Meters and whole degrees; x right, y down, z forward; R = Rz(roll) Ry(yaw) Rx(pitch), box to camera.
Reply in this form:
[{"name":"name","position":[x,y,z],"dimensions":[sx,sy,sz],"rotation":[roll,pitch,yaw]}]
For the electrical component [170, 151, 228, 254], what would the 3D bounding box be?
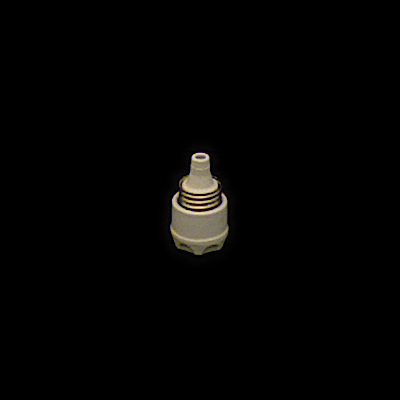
[{"name":"electrical component","position":[0.000,0.000,0.646],"dimensions":[0.035,0.062,0.034],"rotation":[1,31,0]}]
